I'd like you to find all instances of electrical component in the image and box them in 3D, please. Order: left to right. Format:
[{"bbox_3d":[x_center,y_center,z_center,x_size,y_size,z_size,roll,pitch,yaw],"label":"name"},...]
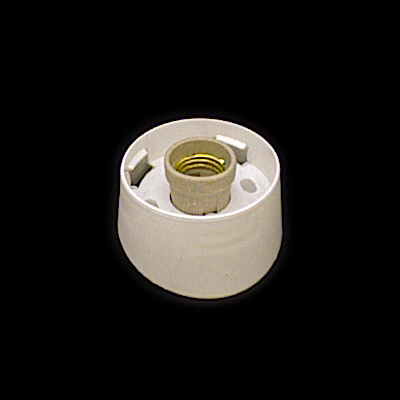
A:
[{"bbox_3d":[0.000,0.000,0.630,0.099,0.065,0.098,1,42,0],"label":"electrical component"}]
